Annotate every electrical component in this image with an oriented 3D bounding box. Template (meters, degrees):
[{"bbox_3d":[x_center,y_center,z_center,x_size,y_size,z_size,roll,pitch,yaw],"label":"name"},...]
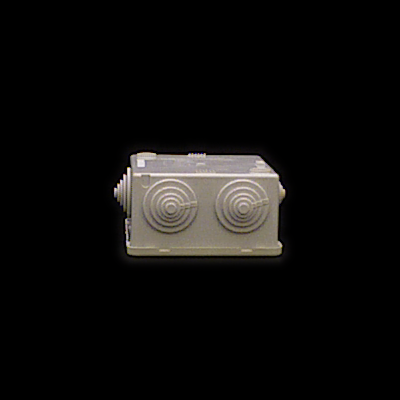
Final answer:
[{"bbox_3d":[0.000,0.000,0.644,0.100,0.049,0.099,0,10,-5],"label":"electrical component"}]
